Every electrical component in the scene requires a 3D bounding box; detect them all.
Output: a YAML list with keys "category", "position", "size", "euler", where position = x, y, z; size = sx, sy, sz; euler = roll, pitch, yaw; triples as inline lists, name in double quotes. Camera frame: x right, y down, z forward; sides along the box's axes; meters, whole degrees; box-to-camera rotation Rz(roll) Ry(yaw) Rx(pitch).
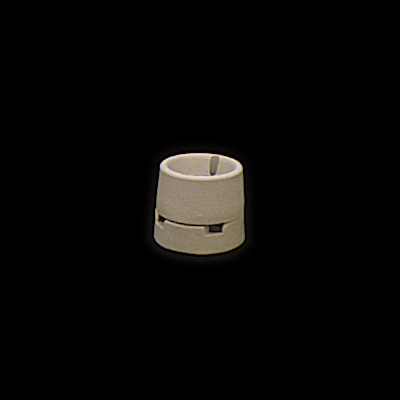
- category: "electrical component"
  position: [0.000, 0.000, 0.643]
  size: [0.055, 0.047, 0.055]
  euler: [2, 20, -1]
